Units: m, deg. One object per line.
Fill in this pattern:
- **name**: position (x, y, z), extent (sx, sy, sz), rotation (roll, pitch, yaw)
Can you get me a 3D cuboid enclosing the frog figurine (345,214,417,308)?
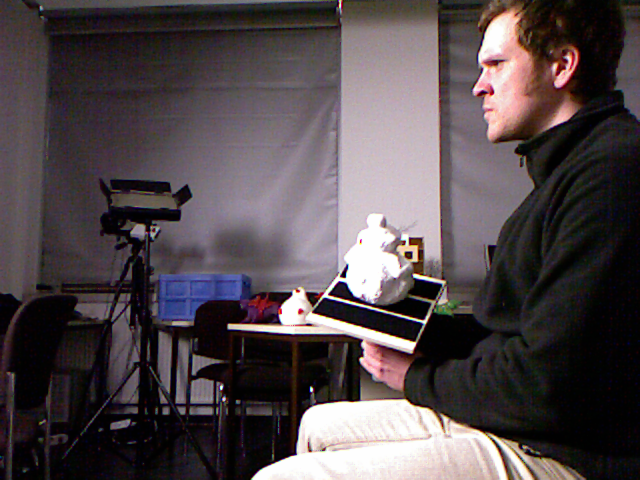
- **frog figurine**: position (0.112, 0.040, 0.934), extent (0.139, 0.156, 0.125), rotation (27, 45, 34)
